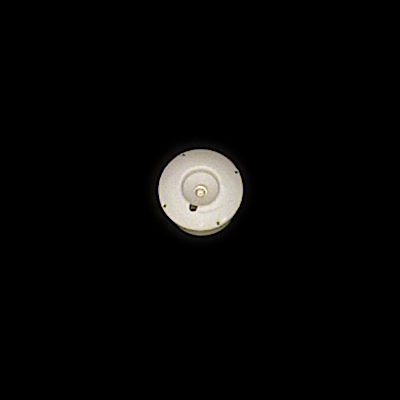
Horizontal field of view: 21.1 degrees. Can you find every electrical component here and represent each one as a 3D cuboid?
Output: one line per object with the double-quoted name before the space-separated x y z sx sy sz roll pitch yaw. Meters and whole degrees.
"electrical component" 0.000 0.000 0.633 0.048 0.048 0.061 0 -16 1
